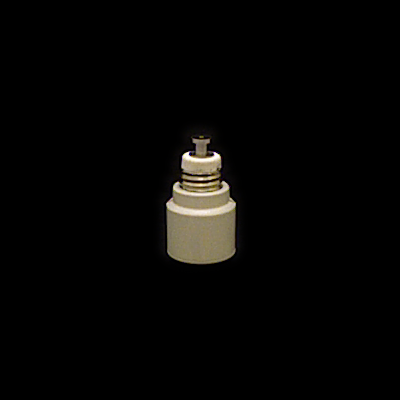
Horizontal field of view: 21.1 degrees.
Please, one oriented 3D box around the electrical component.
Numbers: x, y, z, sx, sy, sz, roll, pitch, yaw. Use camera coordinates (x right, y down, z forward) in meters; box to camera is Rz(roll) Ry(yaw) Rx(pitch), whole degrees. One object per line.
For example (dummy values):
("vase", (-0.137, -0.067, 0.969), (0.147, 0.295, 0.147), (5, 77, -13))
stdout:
("electrical component", (0.000, 0.000, 0.635), (0.040, 0.079, 0.039), (0, 22, 0))
